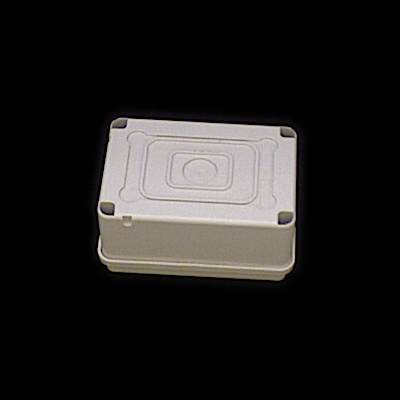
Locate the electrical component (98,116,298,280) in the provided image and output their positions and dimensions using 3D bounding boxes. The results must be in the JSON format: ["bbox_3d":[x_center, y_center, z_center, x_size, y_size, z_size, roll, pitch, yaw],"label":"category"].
[{"bbox_3d":[0.000,0.000,0.630,0.113,0.078,0.057,3,-38,1],"label":"electrical component"}]
